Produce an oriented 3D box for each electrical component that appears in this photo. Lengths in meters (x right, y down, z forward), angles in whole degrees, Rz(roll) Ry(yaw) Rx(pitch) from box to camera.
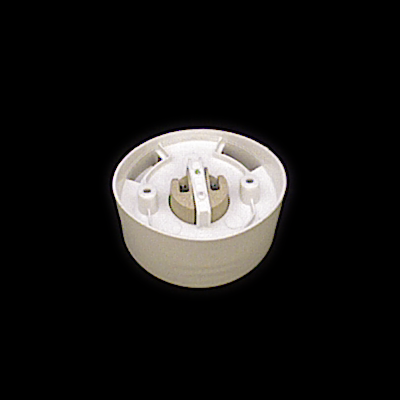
[{"bbox_3d":[0.000,0.000,0.625,0.099,0.098,0.064,0,-37,-1],"label":"electrical component"}]
